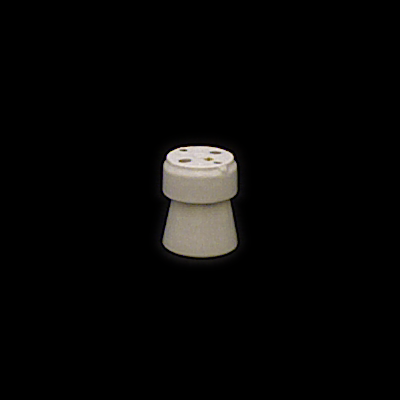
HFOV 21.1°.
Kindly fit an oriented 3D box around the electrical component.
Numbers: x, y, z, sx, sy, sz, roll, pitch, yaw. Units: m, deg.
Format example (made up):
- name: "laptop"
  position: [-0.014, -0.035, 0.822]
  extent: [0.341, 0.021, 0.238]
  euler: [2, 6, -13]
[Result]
- name: "electrical component"
  position: [0.000, 0.000, 0.639]
  extent: [0.045, 0.056, 0.044]
  euler: [1, 21, 0]
